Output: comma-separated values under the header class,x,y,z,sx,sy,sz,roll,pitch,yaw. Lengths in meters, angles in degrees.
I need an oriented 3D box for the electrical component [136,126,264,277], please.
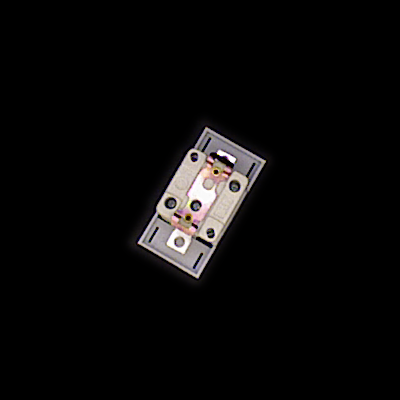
class,x,y,z,sx,sy,sz,roll,pitch,yaw
electrical component,0.000,0.000,0.626,0.042,0.081,0.063,29,-5,4
